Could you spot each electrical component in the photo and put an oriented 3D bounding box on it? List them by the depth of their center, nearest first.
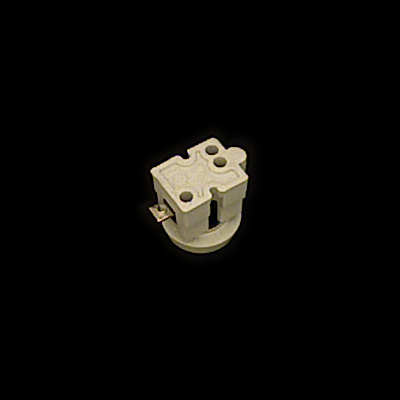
[{"bbox_3d":[0.000,0.000,0.639,0.067,0.048,0.056,-28,-31,-19],"label":"electrical component"}]
